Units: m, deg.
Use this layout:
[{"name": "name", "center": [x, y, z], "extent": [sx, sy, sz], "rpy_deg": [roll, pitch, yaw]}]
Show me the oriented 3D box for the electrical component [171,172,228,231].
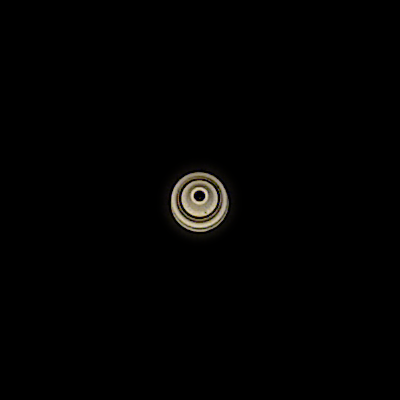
[{"name": "electrical component", "center": [0.000, 0.000, 0.637], "extent": [0.035, 0.035, 0.061], "rpy_deg": [0, -5, 0]}]
